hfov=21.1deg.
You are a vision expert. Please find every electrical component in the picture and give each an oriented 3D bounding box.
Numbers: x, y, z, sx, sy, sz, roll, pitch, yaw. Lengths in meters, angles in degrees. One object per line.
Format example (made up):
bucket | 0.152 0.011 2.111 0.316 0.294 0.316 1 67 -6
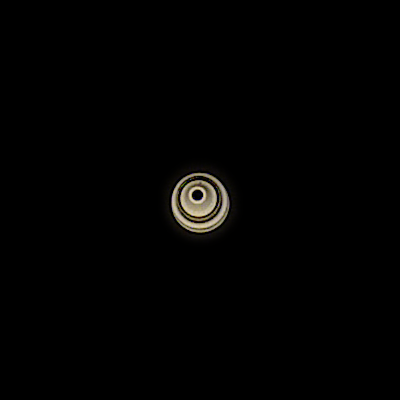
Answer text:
electrical component | 0.000 0.000 0.637 0.035 0.035 0.061 0 -7 2
